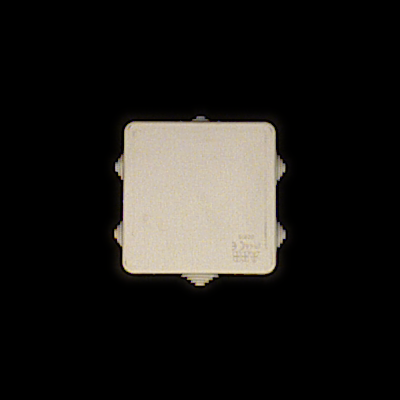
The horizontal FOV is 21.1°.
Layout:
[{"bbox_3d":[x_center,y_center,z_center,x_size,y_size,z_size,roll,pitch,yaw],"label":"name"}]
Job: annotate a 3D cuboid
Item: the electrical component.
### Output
[{"bbox_3d":[0.000,0.000,0.642,0.100,0.100,0.048,0,-6,0],"label":"electrical component"}]
